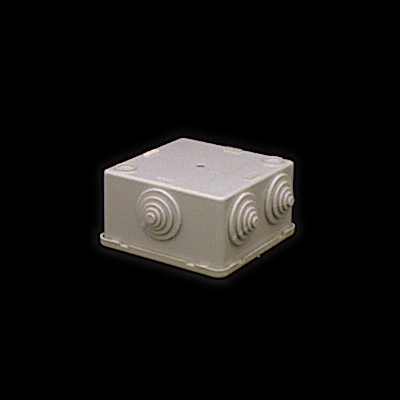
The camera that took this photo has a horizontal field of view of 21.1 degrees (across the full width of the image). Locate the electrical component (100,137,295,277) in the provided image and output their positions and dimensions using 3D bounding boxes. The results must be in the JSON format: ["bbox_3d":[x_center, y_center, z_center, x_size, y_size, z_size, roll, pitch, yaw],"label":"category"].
[{"bbox_3d":[0.000,0.000,0.642,0.099,0.049,0.099,14,24,30],"label":"electrical component"}]
